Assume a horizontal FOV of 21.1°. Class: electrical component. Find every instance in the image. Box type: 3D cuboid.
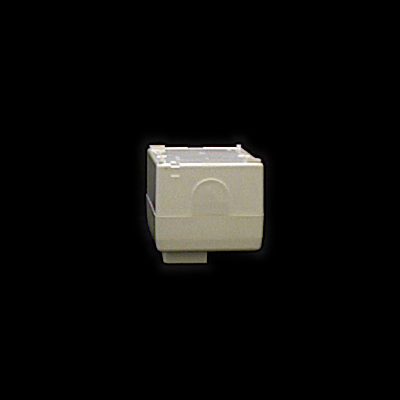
[{"bbox_3d":[0.000,0.000,0.651,0.062,0.061,0.095,-1,11,-7],"label":"electrical component"}]
